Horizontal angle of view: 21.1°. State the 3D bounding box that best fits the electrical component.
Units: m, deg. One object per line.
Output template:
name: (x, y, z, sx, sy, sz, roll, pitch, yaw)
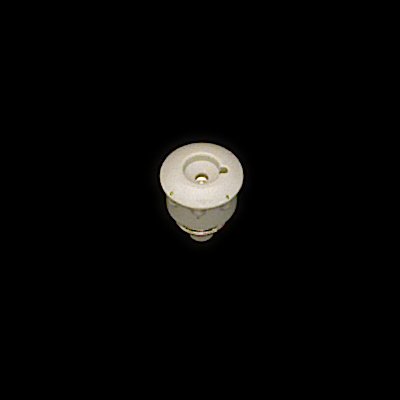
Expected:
electrical component: (0.000, 0.000, 0.637, 0.048, 0.048, 0.062, 0, -37, 0)
